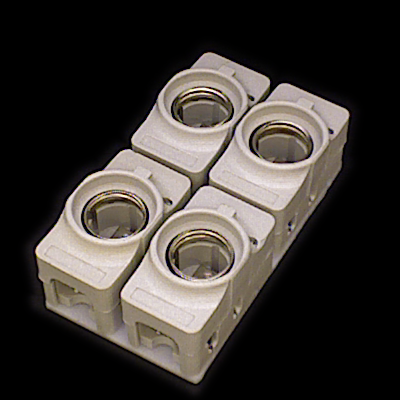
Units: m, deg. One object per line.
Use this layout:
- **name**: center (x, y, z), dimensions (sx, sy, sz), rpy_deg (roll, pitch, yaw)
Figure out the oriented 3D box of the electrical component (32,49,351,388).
- **electrical component**: center (0.000, 0.000, 0.628), dimensions (0.105, 0.186, 0.060), rpy_deg (26, -34, 18)
